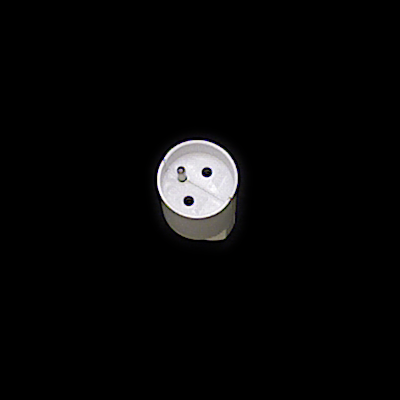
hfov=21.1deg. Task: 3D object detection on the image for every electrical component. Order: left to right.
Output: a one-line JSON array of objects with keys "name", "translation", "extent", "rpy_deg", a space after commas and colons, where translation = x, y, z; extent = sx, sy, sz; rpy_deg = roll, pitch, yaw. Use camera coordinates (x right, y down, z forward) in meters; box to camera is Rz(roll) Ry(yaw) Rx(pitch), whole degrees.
[{"name": "electrical component", "translation": [0.000, 0.000, 0.615], "extent": [0.043, 0.043, 0.080], "rpy_deg": [0, -17, 0]}]
